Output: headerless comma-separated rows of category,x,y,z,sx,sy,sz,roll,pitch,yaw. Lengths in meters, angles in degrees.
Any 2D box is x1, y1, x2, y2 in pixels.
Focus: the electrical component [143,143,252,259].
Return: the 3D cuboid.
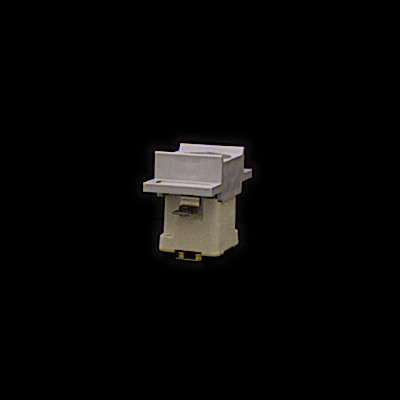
electrical component,0.000,0.000,0.646,0.042,0.064,0.080,4,11,19
